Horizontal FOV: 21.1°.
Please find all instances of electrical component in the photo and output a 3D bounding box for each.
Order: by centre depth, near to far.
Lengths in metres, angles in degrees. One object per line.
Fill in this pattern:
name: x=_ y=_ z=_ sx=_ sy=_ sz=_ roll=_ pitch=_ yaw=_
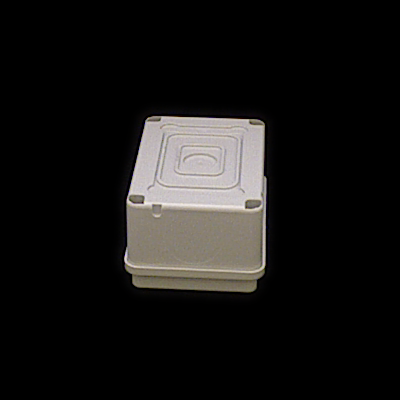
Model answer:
electrical component: x=0.000 y=0.000 z=0.635 sx=0.078 sy=0.058 sz=0.111 roll=2 pitch=31 yaw=2
